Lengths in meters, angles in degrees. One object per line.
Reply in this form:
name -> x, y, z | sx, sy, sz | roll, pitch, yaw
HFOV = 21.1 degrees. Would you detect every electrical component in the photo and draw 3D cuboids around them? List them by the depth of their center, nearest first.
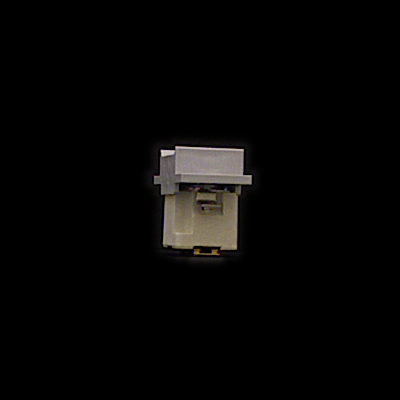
electrical component -> 0.000, 0.000, 0.652 | 0.042, 0.064, 0.080 | 0, 1, -13
